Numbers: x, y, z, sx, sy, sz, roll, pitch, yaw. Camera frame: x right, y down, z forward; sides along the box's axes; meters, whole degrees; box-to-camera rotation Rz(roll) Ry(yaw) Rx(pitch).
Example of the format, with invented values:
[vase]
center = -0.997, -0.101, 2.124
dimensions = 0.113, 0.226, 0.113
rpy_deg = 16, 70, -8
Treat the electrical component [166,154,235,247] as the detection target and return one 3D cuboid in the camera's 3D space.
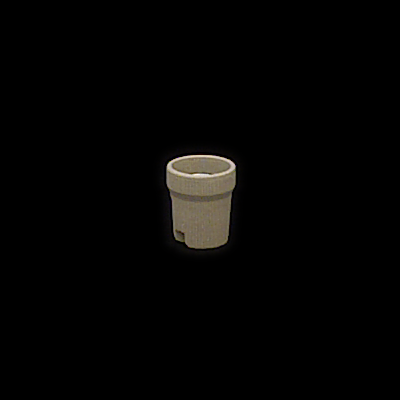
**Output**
[electrical component]
center = 0.000, 0.000, 0.639
dimensions = 0.040, 0.047, 0.039
rpy_deg = 1, 21, 0
